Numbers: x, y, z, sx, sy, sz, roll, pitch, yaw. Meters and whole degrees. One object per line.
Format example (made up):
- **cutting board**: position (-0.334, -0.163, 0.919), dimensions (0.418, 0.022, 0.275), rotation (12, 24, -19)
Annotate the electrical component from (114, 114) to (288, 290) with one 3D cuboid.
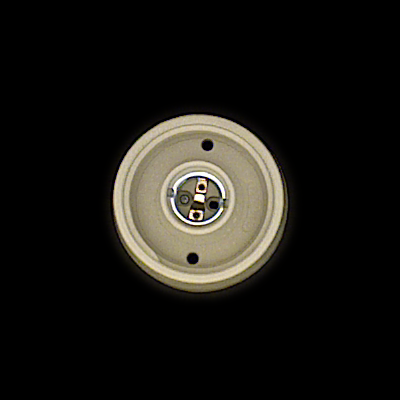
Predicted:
- **electrical component**: position (0.000, 0.000, 0.634), dimensions (0.108, 0.108, 0.060), rotation (0, -6, 0)
